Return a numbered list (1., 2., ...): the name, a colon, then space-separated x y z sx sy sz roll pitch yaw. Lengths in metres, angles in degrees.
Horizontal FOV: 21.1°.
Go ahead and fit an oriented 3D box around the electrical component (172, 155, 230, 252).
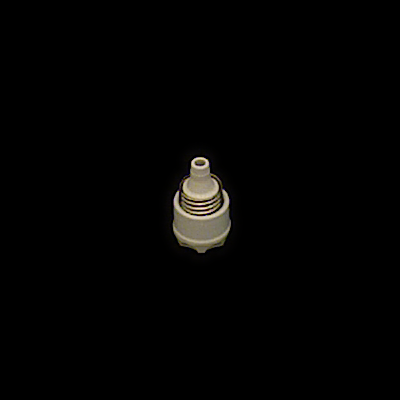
1. electrical component: 0.000 0.000 0.642 0.035 0.062 0.035 -1 43 1
